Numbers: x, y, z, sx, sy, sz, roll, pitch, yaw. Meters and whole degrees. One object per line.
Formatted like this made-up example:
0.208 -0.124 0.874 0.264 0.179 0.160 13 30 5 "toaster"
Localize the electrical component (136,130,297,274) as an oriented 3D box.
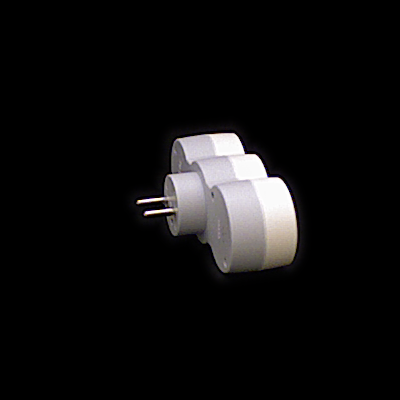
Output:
0.000 0.000 0.638 0.074 0.053 0.136 -7 23 -14 "electrical component"
